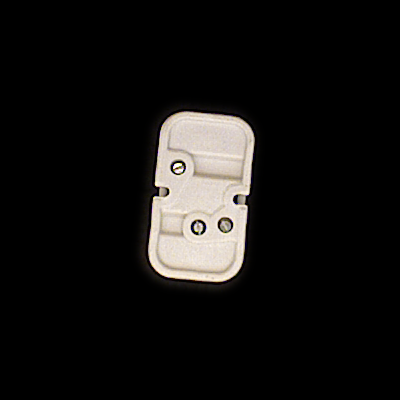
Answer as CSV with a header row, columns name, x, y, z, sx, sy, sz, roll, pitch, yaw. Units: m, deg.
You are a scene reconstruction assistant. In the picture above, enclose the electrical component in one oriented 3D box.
name,x,y,z,sx,sy,sz,roll,pitch,yaw
electrical component,0.000,0.000,0.637,0.054,0.095,0.059,5,-6,1
